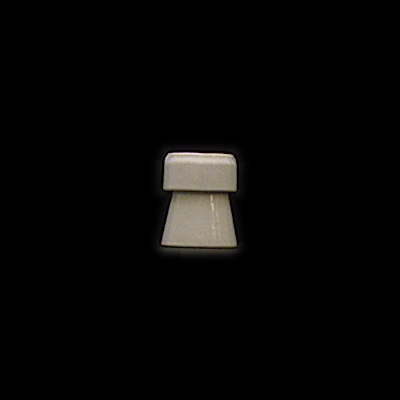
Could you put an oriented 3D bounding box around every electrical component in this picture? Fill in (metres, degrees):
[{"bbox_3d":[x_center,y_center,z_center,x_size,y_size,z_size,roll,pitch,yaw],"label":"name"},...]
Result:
[{"bbox_3d":[0.000,0.000,0.648,0.045,0.055,0.044,1,1,0],"label":"electrical component"}]
